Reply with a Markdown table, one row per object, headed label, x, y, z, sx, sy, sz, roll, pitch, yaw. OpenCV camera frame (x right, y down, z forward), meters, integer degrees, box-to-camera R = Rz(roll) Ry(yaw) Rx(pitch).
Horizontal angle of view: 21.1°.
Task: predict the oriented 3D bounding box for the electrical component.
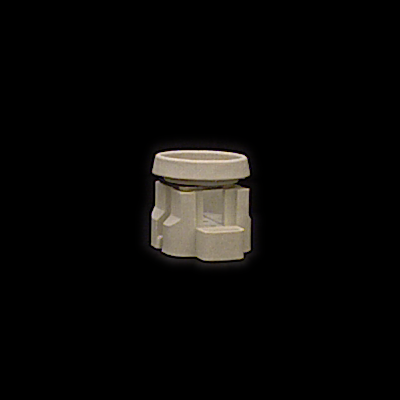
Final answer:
| label | x | y | z | sx | sy | sz | roll | pitch | yaw |
| --- | --- | --- | --- | --- | --- | --- | --- | --- | --- |
| electrical component | 0.000 | 0.000 | 0.645 | 0.058 | 0.057 | 0.077 | -3 | 12 | -23 |
